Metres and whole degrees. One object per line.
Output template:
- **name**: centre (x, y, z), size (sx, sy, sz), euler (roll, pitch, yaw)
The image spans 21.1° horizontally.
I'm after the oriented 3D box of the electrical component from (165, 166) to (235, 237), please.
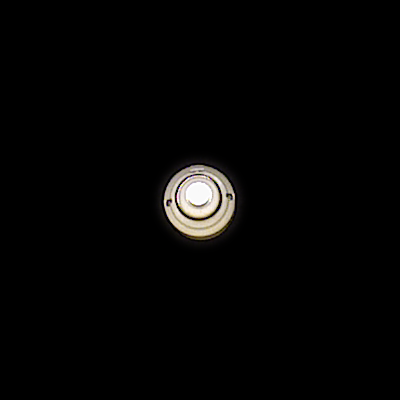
- **electrical component**: centre (0.000, 0.000, 0.618), size (0.040, 0.040, 0.078), euler (0, -5, 1)
